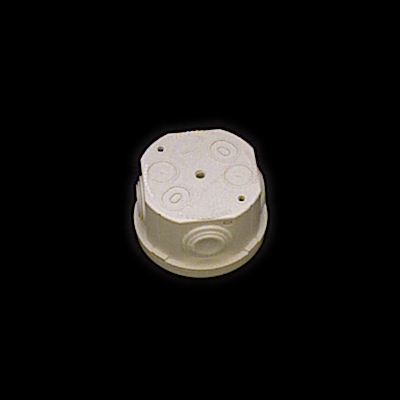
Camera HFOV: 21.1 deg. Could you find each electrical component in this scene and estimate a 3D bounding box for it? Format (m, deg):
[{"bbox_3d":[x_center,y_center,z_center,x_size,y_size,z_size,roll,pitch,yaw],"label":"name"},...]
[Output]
[{"bbox_3d":[0.000,0.000,0.633,0.080,0.080,0.051,0,-38,0],"label":"electrical component"}]
